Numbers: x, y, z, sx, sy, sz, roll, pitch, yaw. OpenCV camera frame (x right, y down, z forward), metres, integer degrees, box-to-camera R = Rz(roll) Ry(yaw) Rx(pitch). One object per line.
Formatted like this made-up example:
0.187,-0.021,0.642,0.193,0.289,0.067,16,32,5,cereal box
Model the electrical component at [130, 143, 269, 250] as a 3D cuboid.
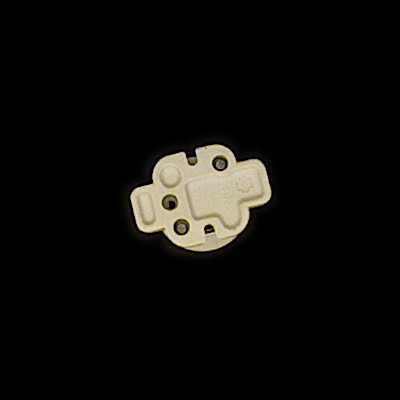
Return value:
0.000,0.000,0.637,0.078,0.058,0.056,-15,-6,-2,electrical component
